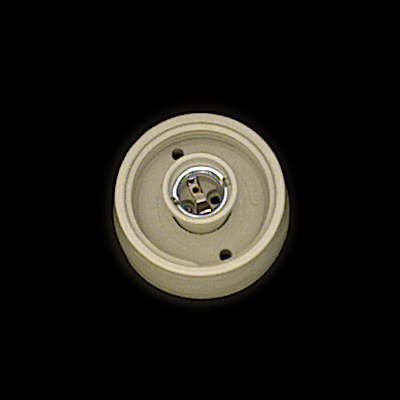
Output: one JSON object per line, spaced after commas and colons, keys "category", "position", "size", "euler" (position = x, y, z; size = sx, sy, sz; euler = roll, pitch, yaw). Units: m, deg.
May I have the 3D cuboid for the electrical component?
{"category": "electrical component", "position": [0.000, 0.000, 0.633], "size": [0.108, 0.108, 0.060], "euler": [0, -16, 0]}
